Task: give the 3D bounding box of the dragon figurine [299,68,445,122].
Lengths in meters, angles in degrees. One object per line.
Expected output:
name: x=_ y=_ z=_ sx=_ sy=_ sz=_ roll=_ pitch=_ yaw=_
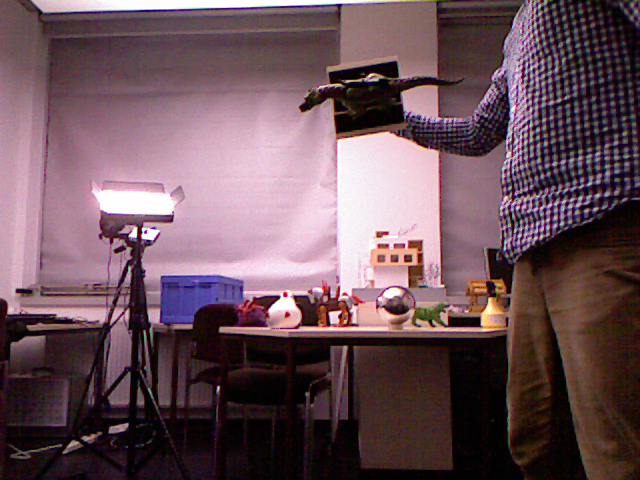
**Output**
dragon figurine: x=0.142 y=-0.402 z=1.369 sx=0.411 sy=0.122 sz=0.244 roll=-14 pitch=4 yaw=6
